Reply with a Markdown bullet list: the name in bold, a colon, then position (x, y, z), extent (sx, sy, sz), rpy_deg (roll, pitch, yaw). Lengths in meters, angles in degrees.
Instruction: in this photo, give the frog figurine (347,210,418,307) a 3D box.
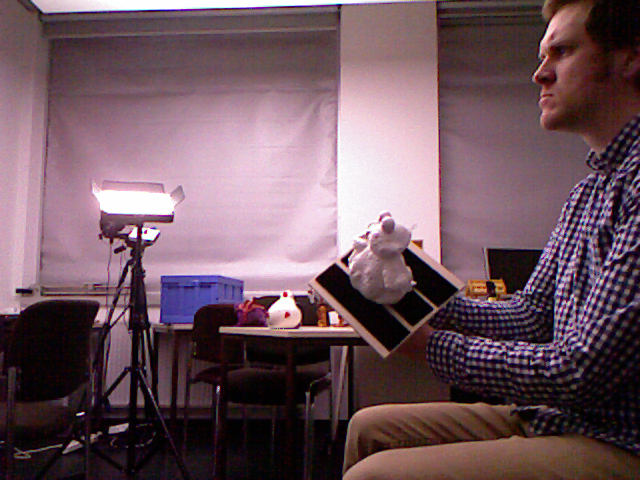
- **frog figurine**: position (0.106, 0.034, 0.881), extent (0.123, 0.140, 0.156), rpy_deg (-24, -31, -9)
